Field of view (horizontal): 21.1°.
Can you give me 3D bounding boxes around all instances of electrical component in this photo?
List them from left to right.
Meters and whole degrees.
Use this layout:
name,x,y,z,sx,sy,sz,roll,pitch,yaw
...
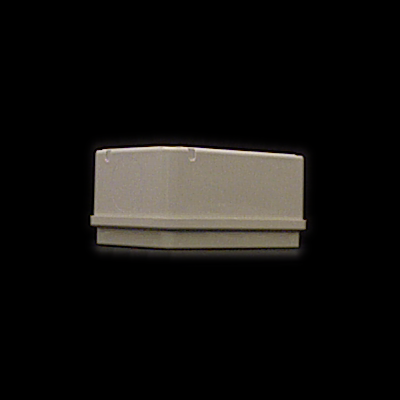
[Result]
name,x,y,z,sx,sy,sz,roll,pitch,yaw
electrical component,0.000,0.000,0.650,0.113,0.057,0.078,2,0,-40
